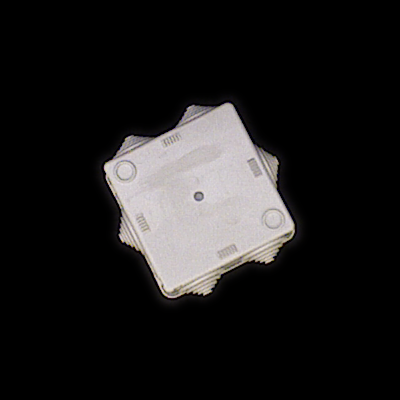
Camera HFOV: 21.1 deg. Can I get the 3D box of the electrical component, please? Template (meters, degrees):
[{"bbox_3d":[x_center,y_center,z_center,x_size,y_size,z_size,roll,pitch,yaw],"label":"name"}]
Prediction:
[{"bbox_3d":[0.000,0.000,0.632,0.100,0.100,0.048,-27,-6,-3],"label":"electrical component"}]
